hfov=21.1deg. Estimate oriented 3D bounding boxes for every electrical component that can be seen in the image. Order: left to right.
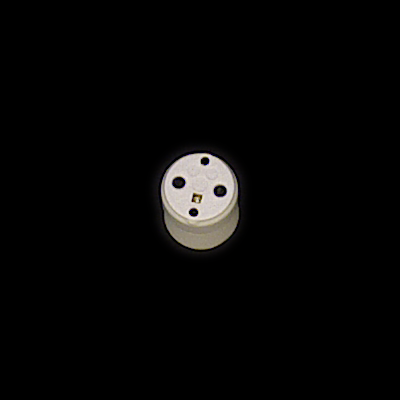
[{"bbox_3d":[0.000,0.000,0.629,0.045,0.045,0.055,0,-17,1],"label":"electrical component"}]
